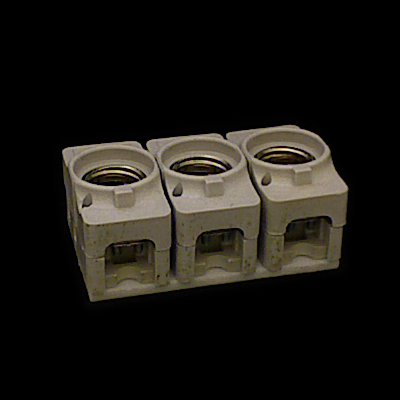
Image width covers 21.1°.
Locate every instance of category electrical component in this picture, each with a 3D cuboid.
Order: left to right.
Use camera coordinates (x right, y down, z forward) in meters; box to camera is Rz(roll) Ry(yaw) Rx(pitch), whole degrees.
[{"bbox_3d":[0.000,0.000,0.639,0.150,0.063,0.087,-7,33,-13],"label":"electrical component"}]
